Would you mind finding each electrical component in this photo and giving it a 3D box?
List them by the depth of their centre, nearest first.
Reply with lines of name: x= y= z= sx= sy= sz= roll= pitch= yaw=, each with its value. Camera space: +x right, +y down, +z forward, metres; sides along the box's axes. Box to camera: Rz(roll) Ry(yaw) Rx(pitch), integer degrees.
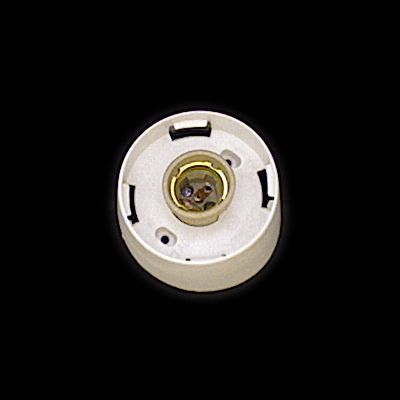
electrical component: x=0.000 y=0.000 z=0.624 sx=0.099 sy=0.099 sz=0.064 roll=0 pitch=-17 yaw=-1
